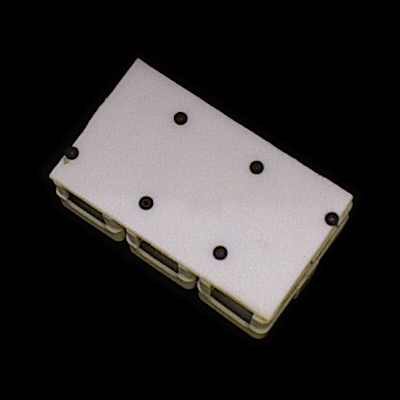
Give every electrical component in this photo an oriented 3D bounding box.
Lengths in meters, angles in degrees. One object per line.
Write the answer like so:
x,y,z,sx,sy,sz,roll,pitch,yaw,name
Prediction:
0.000,0.000,0.630,0.150,0.089,0.062,34,-14,9,electrical component
